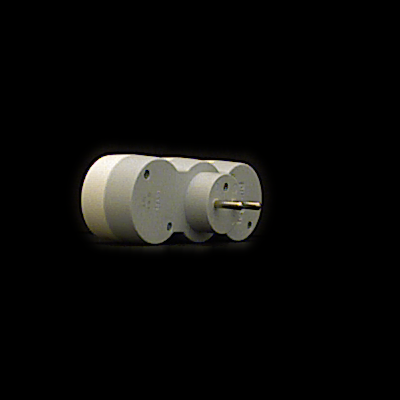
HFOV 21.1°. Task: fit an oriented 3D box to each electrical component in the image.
[{"bbox_3d":[0.000,0.000,0.654,0.073,0.052,0.139,4,2,35],"label":"electrical component"}]
